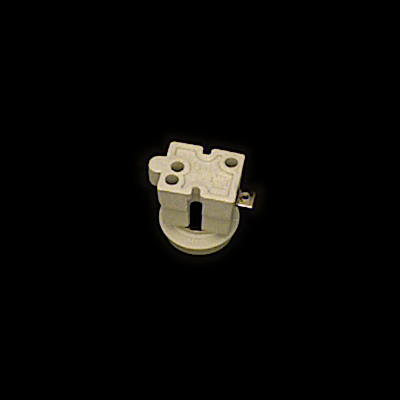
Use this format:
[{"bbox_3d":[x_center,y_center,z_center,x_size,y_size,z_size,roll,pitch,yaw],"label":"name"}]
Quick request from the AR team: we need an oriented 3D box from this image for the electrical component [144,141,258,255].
[{"bbox_3d":[0.000,0.000,0.638,0.066,0.048,0.055,10,-37,6],"label":"electrical component"}]
